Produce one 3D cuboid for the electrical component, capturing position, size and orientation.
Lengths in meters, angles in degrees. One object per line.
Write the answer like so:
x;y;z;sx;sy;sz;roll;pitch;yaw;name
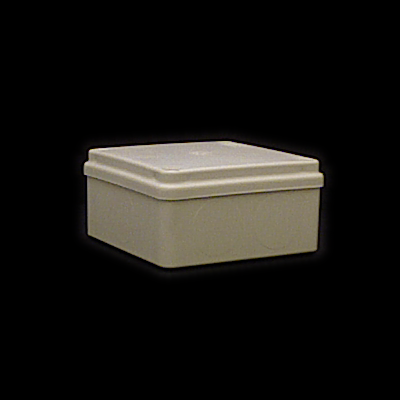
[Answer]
0.000;0.000;0.643;0.109;0.056;0.107;-5;12;-30;electrical component
